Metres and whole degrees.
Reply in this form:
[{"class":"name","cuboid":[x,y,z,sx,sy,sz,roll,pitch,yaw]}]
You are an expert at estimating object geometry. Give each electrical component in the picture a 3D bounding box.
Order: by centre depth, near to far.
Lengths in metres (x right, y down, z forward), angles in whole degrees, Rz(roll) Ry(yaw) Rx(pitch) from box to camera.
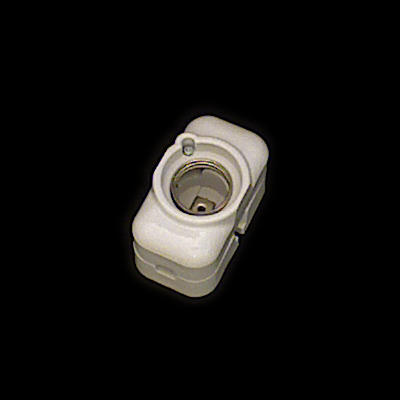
[{"class":"electrical component","cuboid":[0.000,0.000,0.634,0.053,0.095,0.059,23,-25,11]}]
